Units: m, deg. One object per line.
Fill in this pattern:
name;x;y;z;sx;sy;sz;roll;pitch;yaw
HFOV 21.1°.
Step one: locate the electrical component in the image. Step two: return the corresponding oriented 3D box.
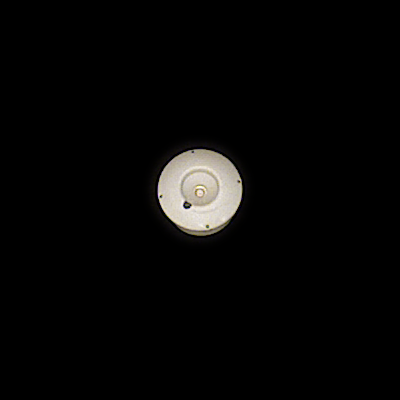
electrical component;0.000;0.000;0.633;0.048;0.048;0.061;0;-16;1
